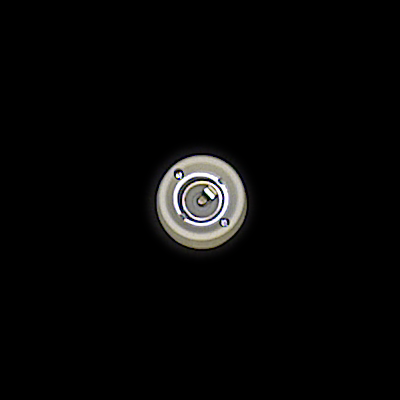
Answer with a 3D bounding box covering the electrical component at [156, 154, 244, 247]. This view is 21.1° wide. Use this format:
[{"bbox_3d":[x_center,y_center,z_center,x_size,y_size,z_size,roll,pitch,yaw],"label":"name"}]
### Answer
[{"bbox_3d":[0.000,0.000,0.633,0.055,0.055,0.047,0,-6,0],"label":"electrical component"}]
